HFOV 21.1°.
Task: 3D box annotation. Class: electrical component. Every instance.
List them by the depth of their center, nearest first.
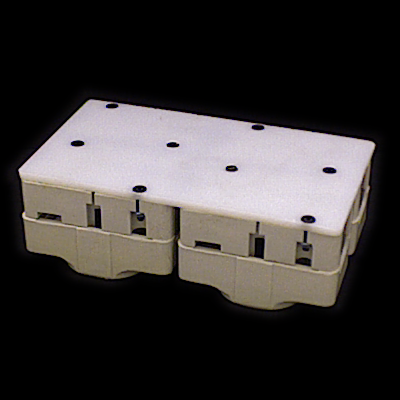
[{"bbox_3d":[0.000,0.000,0.633,0.186,0.061,0.104,10,32,15],"label":"electrical component"}]
